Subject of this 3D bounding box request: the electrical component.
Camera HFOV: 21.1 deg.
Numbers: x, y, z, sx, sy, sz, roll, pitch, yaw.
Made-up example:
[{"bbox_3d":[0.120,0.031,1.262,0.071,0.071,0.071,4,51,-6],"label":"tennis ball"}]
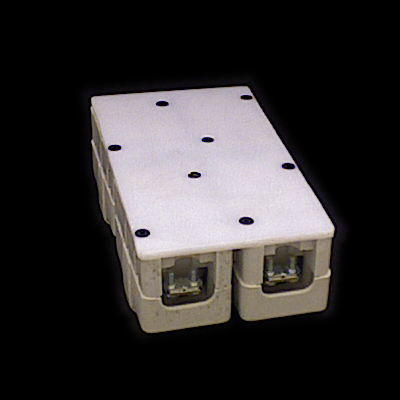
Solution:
[{"bbox_3d":[0.000,0.000,0.633,0.105,0.061,0.183,-6,32,-11],"label":"electrical component"}]
